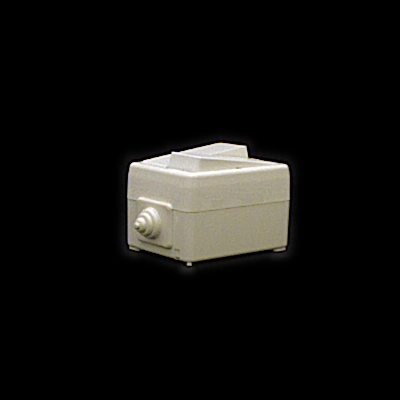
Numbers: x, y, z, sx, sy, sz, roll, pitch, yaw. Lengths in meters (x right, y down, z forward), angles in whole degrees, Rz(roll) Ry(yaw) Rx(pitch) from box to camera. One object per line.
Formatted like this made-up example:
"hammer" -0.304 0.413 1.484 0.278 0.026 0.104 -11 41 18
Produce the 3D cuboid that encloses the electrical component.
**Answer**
"electrical component" 0.000 0.000 0.643 0.096 0.061 0.061 -7 13 -39
